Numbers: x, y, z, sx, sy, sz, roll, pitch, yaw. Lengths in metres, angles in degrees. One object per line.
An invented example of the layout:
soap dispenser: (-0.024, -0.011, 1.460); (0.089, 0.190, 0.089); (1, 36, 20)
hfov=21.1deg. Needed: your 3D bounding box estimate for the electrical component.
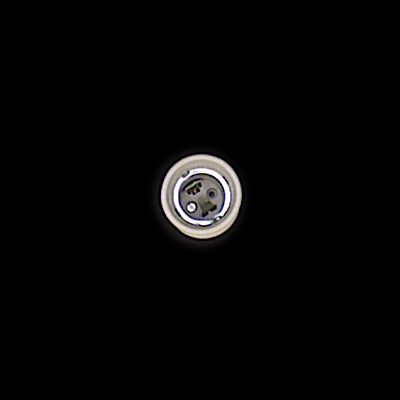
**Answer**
electrical component: (0.000, 0.000, 0.629); (0.045, 0.045, 0.055); (0, -7, 1)
